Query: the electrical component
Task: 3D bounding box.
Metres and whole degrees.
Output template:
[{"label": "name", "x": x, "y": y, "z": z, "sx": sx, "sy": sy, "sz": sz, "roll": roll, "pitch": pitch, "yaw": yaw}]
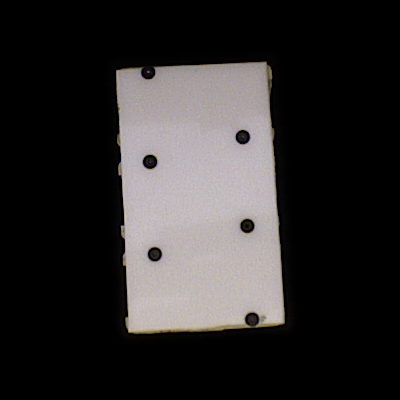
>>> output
[{"label": "electrical component", "x": 0.000, "y": 0.000, "z": 0.631, "sx": 0.089, "sy": 0.150, "sz": 0.061, "roll": -3, "pitch": -7, "yaw": -1}]
